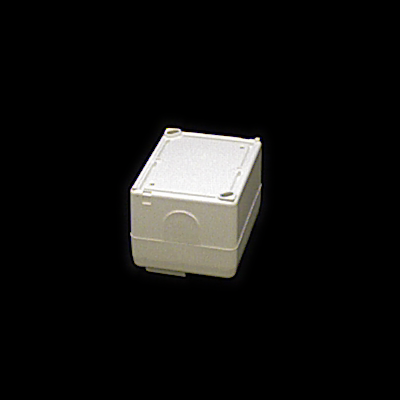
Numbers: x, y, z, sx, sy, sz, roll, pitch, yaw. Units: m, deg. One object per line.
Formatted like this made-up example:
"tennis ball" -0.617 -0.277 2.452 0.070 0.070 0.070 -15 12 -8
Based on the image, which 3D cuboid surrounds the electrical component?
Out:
"electrical component" 0.001 0.000 0.641 0.061 0.062 0.095 7 32 11
